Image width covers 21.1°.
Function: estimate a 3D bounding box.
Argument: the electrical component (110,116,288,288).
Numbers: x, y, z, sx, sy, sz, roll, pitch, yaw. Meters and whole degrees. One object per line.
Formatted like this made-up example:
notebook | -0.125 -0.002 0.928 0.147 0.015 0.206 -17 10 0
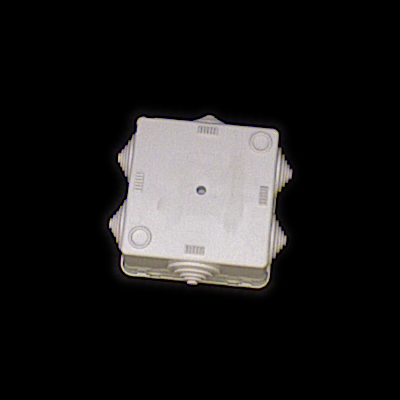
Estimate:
electrical component | 0.000 0.000 0.632 0.100 0.100 0.048 6 -17 2
